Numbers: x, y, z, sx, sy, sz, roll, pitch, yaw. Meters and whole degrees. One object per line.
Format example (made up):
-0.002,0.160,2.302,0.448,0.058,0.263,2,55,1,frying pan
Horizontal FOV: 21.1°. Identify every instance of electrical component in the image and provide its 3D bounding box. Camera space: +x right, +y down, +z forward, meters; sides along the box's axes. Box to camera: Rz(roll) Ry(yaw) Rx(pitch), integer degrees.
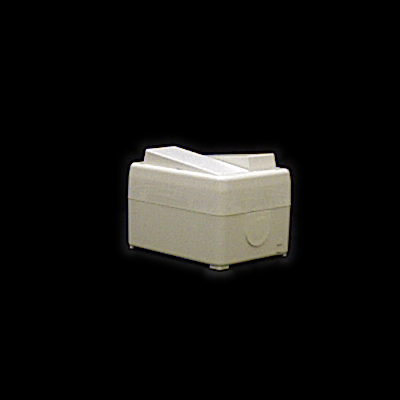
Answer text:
0.000,0.000,0.646,0.062,0.061,0.095,-9,15,-44,electrical component
